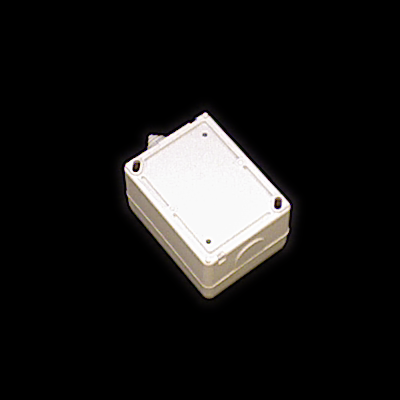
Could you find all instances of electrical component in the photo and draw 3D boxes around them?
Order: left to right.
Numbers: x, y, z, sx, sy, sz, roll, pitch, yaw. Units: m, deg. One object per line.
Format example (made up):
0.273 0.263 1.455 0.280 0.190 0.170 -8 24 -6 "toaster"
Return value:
0.000 0.000 0.629 0.062 0.096 0.061 -35 -23 -16 "electrical component"
